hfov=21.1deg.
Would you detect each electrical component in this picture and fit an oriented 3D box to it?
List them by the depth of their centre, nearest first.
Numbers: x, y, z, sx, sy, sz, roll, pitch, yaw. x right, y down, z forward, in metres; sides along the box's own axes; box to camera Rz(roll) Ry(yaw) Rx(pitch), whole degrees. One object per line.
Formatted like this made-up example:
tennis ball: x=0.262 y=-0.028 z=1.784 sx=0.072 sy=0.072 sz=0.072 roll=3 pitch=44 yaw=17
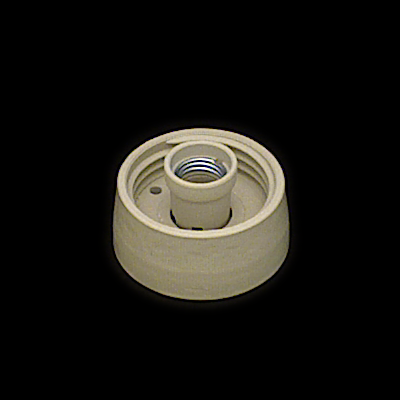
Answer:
electrical component: x=0.000 y=0.000 z=0.639 sx=0.108 sy=0.061 sz=0.106 roll=1 pitch=42 yaw=0
